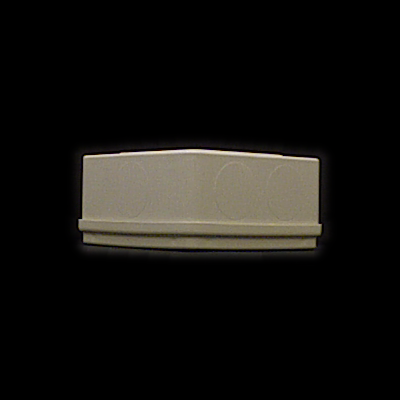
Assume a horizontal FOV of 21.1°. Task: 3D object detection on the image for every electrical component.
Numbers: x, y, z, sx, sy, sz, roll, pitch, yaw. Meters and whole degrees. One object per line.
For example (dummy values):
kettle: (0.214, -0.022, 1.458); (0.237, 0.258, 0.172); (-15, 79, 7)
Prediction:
electrical component: (0.000, 0.000, 0.648); (0.109, 0.056, 0.108); (1, 0, -42)
